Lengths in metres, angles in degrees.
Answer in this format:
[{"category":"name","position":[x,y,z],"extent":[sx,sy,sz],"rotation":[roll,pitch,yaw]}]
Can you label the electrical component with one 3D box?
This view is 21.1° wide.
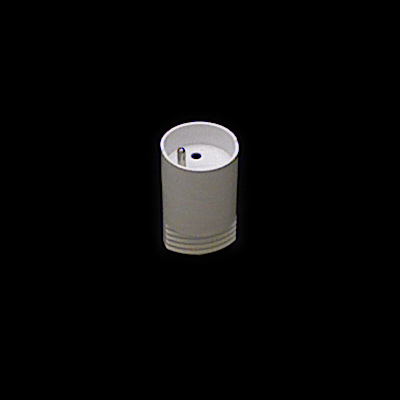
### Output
[{"category":"electrical component","position":[0.000,0.000,0.621],"extent":[0.043,0.082,0.042],"rotation":[0,41,0]}]
